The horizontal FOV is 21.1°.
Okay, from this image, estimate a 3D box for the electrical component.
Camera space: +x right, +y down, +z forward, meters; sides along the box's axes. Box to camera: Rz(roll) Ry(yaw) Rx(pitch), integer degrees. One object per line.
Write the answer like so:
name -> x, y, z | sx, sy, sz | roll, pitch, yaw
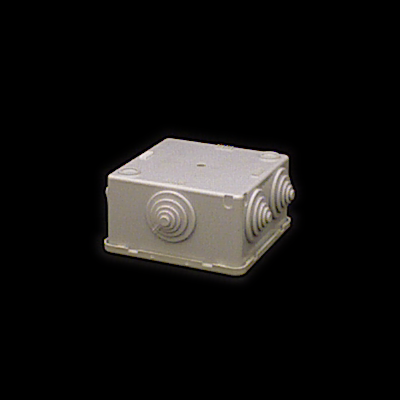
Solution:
electrical component -> 0.000, 0.000, 0.640 | 0.099, 0.049, 0.099 | 10, 22, 21
